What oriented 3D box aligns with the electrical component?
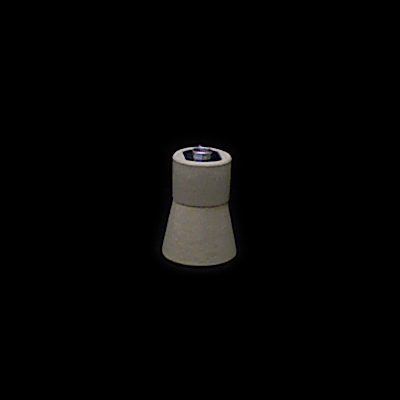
[{"bbox_3d":[0.000,0.000,0.637,0.044,0.066,0.044,2,21,-1],"label":"electrical component"}]
